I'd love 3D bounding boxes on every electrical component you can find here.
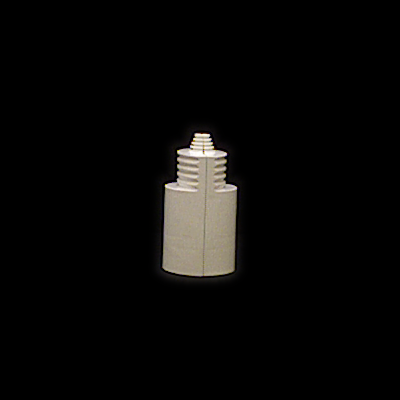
[{"bbox_3d":[0.000,0.000,0.641,0.043,0.081,0.043,1,11,0],"label":"electrical component"}]
